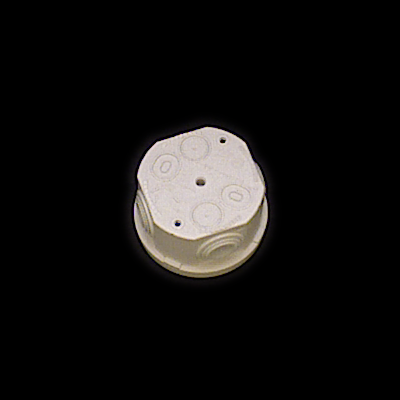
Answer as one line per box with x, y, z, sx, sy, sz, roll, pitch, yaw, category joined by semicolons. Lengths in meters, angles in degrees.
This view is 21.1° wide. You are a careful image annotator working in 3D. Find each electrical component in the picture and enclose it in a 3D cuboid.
0.000;0.000;0.631;0.080;0.080;0.050;0;-27;0;electrical component
